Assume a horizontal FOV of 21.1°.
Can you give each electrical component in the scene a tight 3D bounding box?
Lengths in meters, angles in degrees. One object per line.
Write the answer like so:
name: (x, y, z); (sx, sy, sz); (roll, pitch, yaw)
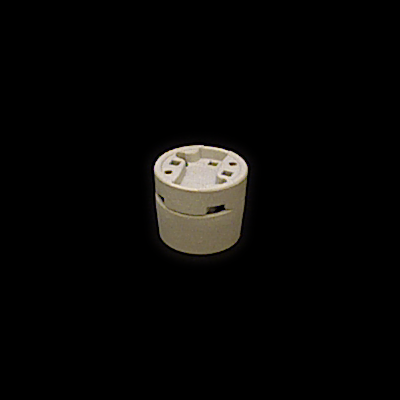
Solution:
electrical component: (0.000, 0.000, 0.640); (0.055, 0.047, 0.055); (1, 32, 0)
